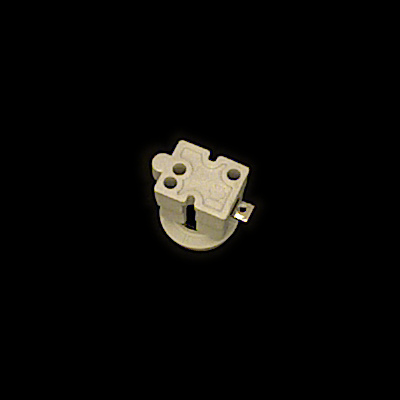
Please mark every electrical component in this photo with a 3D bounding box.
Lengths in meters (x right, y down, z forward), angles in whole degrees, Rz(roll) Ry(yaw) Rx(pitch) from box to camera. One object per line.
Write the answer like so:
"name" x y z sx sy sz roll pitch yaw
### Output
"electrical component" 0.000 0.000 0.637 0.066 0.049 0.055 23 -25 10
